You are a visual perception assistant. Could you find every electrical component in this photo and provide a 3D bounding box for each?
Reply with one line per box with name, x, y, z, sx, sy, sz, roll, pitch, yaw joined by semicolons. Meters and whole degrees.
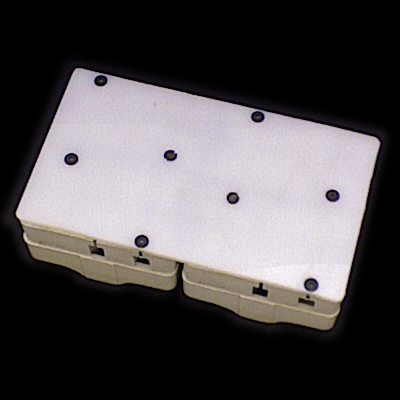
electrical component;0.000;0.000;0.625;0.186;0.106;0.060;14;-26;7
